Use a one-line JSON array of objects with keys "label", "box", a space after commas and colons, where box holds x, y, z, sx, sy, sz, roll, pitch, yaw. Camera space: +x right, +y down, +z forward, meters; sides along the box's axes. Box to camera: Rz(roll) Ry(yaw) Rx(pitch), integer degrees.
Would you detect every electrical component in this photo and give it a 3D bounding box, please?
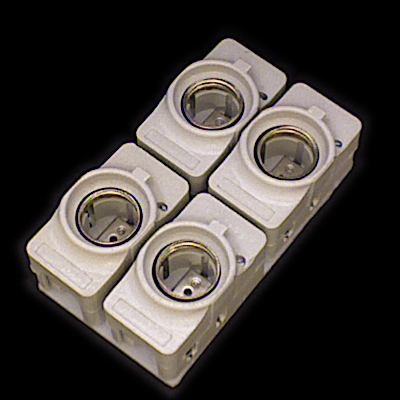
[{"label": "electrical component", "box": [0.000, 0.000, 0.626, 0.105, 0.187, 0.060, 35, -23, 16]}]
